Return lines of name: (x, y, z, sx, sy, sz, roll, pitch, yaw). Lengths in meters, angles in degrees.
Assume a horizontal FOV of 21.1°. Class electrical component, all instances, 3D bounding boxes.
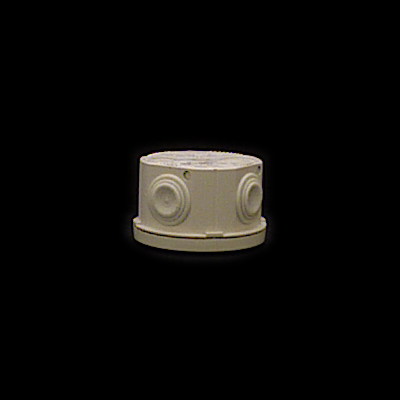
electrical component: (0.000, 0.000, 0.644, 0.080, 0.051, 0.079, 1, 11, 0)
